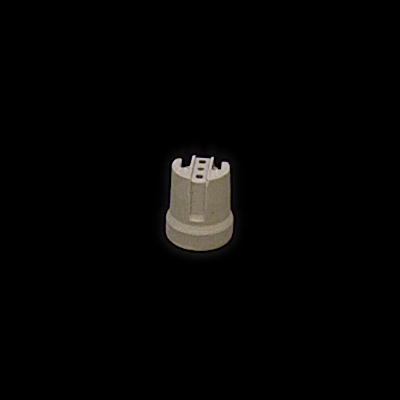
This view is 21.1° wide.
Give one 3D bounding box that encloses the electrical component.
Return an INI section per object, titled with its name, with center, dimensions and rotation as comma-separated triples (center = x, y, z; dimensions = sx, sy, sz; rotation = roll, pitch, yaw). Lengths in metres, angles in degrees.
[electrical component]
center = 0.000, 0.000, 0.639
dimensions = 0.040, 0.046, 0.040
rotation = 1, 32, -1
